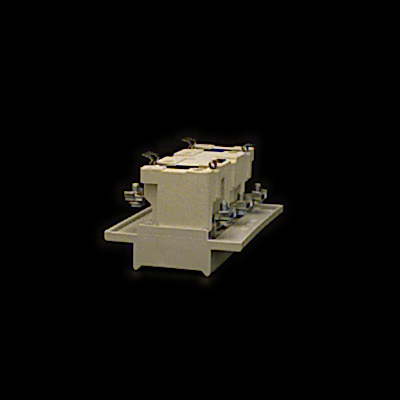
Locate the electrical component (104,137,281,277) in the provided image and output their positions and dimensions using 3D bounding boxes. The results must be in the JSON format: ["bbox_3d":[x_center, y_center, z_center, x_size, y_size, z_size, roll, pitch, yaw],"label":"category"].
[{"bbox_3d":[0.000,0.000,0.651,0.078,0.063,0.121,5,11,14],"label":"electrical component"}]
